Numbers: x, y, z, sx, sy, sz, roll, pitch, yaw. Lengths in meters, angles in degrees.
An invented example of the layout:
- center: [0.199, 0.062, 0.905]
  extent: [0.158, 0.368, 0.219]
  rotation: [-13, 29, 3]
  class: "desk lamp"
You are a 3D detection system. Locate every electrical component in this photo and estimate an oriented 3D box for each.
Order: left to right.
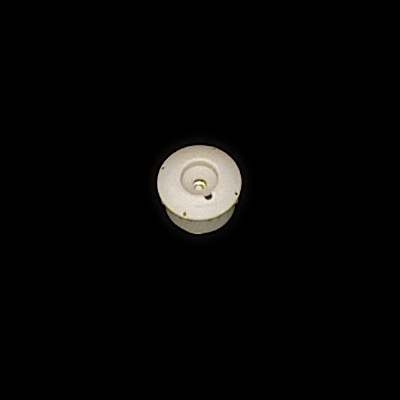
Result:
- center: [0.000, 0.000, 0.634]
  extent: [0.048, 0.048, 0.062]
  rotation: [0, -26, 0]
  class: "electrical component"
